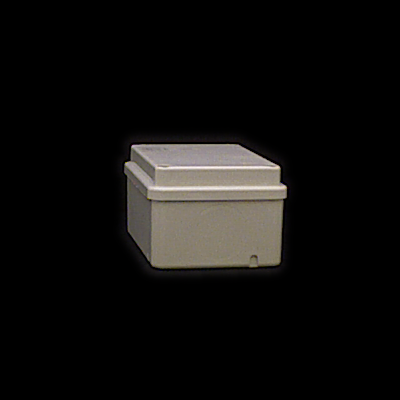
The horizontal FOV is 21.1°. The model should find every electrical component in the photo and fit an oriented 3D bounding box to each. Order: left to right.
[{"bbox_3d":[0.000,0.000,0.643,0.078,0.057,0.112,-1,11,-12],"label":"electrical component"}]
